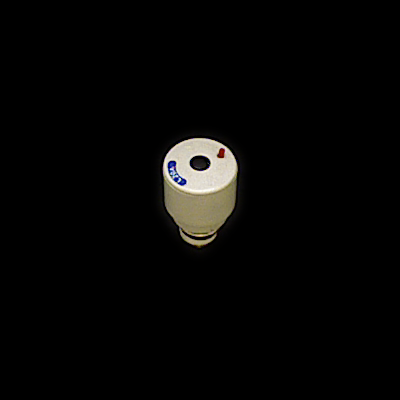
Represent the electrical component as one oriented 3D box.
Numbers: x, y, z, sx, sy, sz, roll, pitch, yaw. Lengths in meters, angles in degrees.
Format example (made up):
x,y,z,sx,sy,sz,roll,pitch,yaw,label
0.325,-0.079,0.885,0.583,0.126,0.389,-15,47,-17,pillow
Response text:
x,y,z,sx,sy,sz,roll,pitch,yaw,label
0.000,0.000,0.621,0.040,0.040,0.079,0,-38,-1,electrical component
